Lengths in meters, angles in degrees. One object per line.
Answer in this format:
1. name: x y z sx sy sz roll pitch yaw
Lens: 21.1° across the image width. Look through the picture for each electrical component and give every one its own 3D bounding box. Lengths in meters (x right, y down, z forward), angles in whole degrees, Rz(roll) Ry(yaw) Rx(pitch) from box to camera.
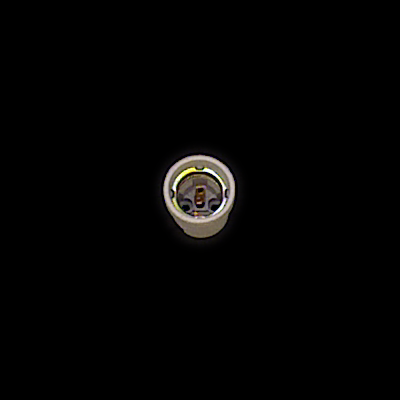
1. electrical component: 0.000 0.000 0.627 0.040 0.040 0.046 0 -17 0
